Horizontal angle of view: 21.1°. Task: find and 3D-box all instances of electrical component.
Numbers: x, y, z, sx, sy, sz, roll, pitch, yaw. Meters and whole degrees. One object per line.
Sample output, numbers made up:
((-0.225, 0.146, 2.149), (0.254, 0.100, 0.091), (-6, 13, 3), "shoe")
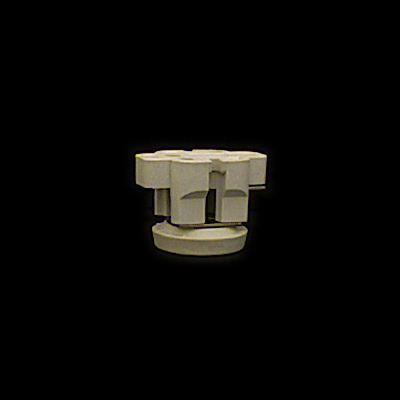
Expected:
((0.000, 0.000, 0.653), (0.079, 0.057, 0.057), (-2, 11, -23), "electrical component")
